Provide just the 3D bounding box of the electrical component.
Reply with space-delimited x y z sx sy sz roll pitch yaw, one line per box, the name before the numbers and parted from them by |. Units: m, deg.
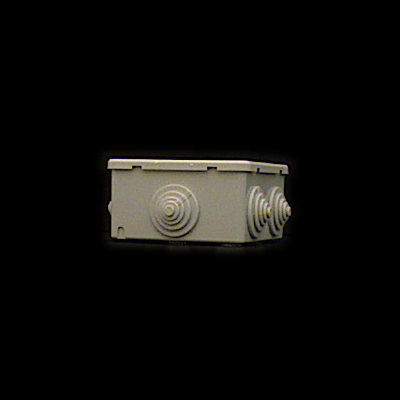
electrical component | 0.000 0.000 0.657 0.099 0.048 0.100 2 1 20
